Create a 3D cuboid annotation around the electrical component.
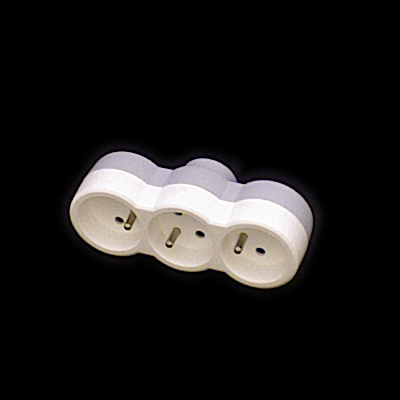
[{"bbox_3d":[0.000,0.000,0.634,0.138,0.052,0.073,12,41,13],"label":"electrical component"}]
